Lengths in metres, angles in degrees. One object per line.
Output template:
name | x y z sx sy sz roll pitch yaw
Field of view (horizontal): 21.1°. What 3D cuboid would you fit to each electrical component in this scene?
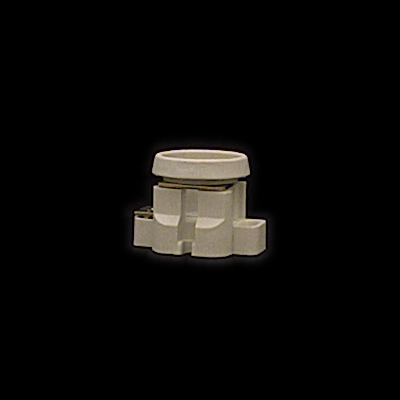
electrical component | 0.000 0.000 0.643 0.078 0.057 0.057 4 11 16
